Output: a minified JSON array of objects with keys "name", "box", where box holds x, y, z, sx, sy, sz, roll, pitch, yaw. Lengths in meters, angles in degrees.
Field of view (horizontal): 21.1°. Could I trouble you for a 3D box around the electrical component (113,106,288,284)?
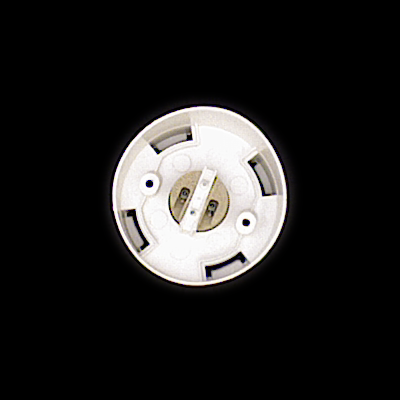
[{"name":"electrical component","box":[0.000,0.000,0.624,0.099,0.099,0.064,0,-8,0]}]
